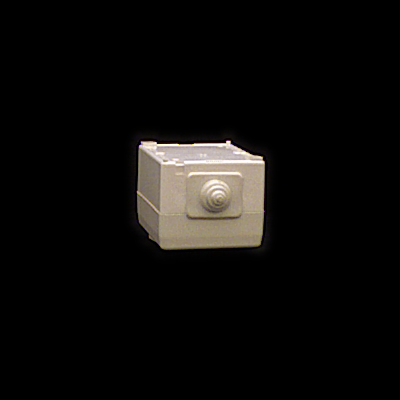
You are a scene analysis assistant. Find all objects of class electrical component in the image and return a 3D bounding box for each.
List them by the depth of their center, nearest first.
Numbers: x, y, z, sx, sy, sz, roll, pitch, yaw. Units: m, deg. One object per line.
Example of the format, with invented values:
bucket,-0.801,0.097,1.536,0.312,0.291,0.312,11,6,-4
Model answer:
electrical component,0.000,0.000,0.642,0.062,0.061,0.095,-1,11,-13
